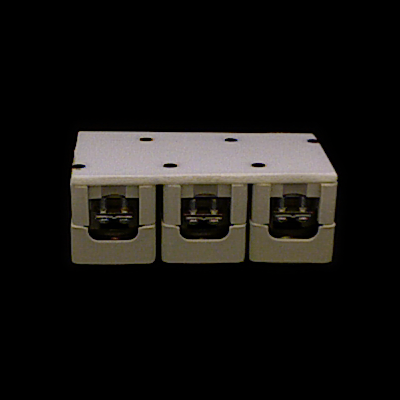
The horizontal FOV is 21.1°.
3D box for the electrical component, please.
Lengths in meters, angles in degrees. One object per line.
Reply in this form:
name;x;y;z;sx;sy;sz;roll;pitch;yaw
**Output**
electrical component;0.000;0.000;0.647;0.150;0.063;0.087;0;21;-3
